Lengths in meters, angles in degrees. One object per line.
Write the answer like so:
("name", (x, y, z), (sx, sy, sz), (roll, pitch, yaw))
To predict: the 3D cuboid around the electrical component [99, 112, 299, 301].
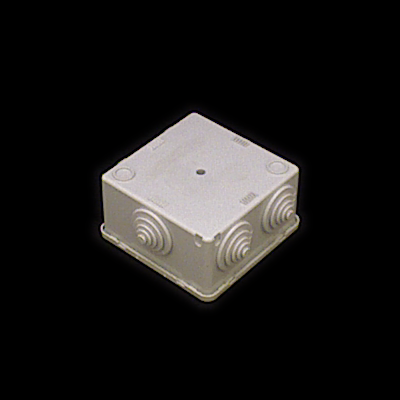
("electrical component", (0.000, 0.000, 0.633), (0.099, 0.049, 0.099), (30, 50, 29))
